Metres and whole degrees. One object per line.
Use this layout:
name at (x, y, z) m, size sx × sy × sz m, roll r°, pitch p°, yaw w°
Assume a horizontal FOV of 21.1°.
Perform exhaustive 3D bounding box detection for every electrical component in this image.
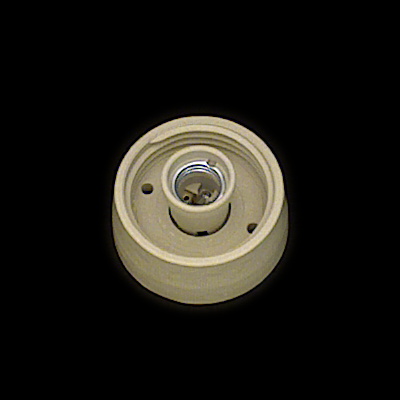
electrical component at (0.000, 0.000, 0.634) m, size 0.108 × 0.108 × 0.060 m, roll 0°, pitch -27°, yaw 0°
